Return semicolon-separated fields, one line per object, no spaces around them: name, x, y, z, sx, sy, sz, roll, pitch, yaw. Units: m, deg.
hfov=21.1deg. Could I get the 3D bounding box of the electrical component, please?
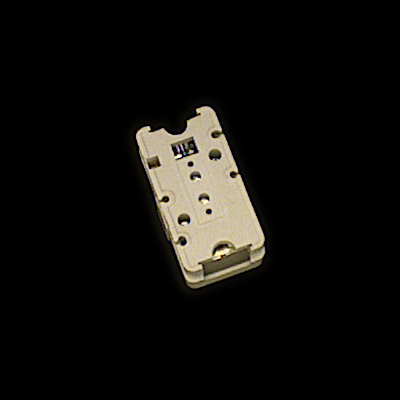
electrical component;0.000;0.000;0.636;0.050;0.089;0.055;-20;-16;-4
